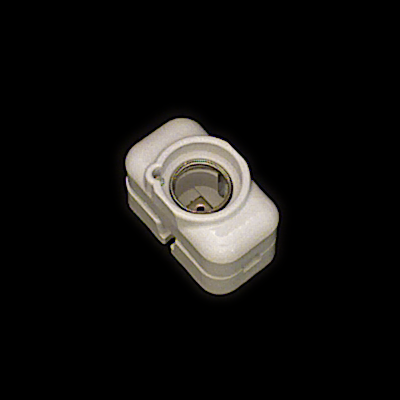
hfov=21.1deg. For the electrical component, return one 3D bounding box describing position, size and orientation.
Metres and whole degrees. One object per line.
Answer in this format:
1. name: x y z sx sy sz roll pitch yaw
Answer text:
1. electrical component: 0.000 0.000 0.633 0.054 0.095 0.059 -37 -21 -17
